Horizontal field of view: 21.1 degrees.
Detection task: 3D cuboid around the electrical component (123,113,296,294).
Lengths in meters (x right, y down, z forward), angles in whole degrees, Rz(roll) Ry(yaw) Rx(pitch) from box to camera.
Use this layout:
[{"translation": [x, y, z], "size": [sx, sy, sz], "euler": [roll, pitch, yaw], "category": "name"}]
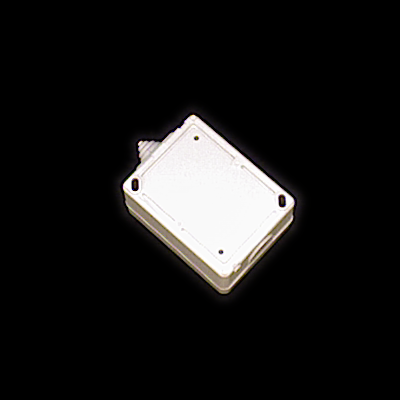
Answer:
[{"translation": [0.000, 0.000, 0.629], "size": [0.096, 0.062, 0.060], "euler": [41, -13, 12], "category": "electrical component"}]
